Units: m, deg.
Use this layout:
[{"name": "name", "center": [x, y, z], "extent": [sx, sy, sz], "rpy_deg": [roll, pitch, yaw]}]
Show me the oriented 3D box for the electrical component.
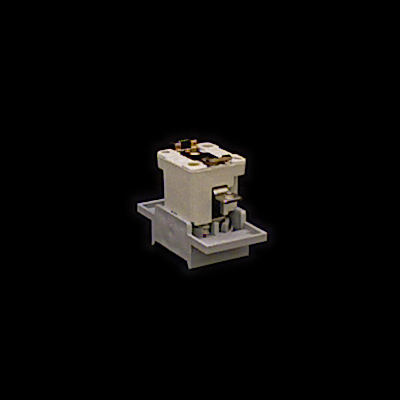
[{"name": "electrical component", "center": [0.000, 0.000, 0.638], "extent": [0.042, 0.064, 0.080], "rpy_deg": [-13, 25, -31]}]
